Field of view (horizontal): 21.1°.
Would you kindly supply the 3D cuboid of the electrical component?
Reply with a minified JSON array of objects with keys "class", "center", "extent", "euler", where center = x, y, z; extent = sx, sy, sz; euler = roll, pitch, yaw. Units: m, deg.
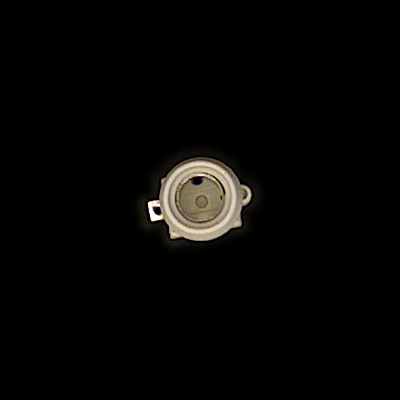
[{"class":"electrical component","center":[0.000,0.000,0.639],"extent":[0.066,0.048,0.055],"euler":[-12,-8,-1]}]
